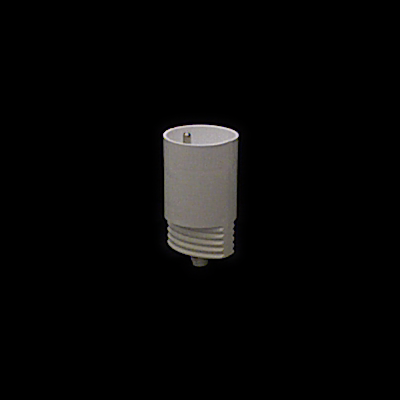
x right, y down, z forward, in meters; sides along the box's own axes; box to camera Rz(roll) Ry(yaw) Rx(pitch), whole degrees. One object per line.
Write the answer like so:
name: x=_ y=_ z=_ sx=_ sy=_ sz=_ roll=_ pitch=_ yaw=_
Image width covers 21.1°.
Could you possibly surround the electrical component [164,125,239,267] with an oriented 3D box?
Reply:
electrical component: x=0.000 y=0.000 z=0.634 sx=0.043 sy=0.082 sz=0.042 roll=1 pitch=20 yaw=0
